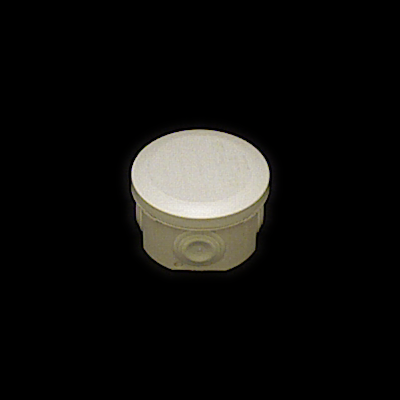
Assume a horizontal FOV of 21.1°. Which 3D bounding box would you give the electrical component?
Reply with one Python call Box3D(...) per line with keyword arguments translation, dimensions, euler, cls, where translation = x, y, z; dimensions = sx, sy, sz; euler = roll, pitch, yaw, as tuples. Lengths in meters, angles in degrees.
Box3D(translation=(0.000, 0.000, 0.631), dimensions=(0.080, 0.051, 0.080), euler=(0, 42, 0), cls="electrical component")
